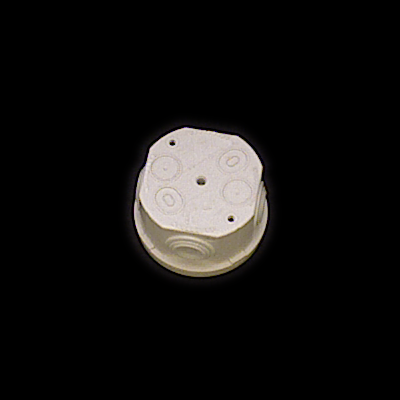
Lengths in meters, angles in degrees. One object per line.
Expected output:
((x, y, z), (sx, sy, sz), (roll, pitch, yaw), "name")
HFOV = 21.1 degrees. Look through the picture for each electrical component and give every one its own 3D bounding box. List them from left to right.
((0.000, 0.000, 0.631), (0.080, 0.080, 0.050), (0, -27, -1), "electrical component")
